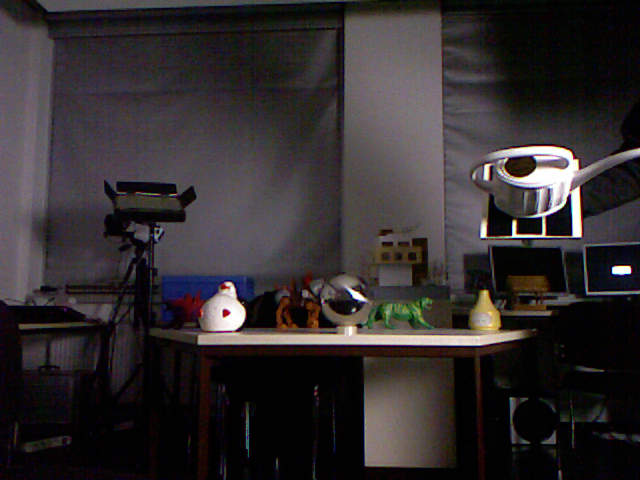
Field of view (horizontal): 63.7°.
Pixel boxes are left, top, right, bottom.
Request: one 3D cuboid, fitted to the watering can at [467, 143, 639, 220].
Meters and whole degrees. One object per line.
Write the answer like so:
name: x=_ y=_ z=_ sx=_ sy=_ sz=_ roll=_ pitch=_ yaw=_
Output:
watering can: x=0.495 y=-0.130 z=1.098 sx=0.348 sy=0.106 sz=0.221 roll=-1 pitch=-27 yaw=18
